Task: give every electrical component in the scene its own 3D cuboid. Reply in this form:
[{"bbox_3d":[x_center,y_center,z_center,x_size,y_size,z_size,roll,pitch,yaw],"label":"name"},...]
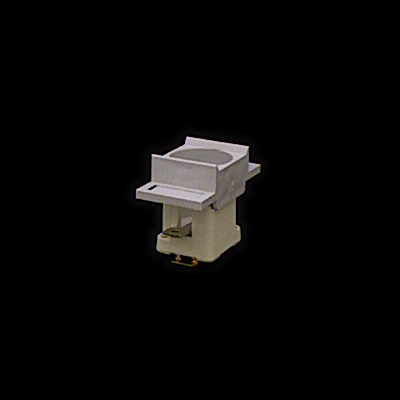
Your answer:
[{"bbox_3d":[0.000,0.000,0.635,0.042,0.064,0.080,12,23,24],"label":"electrical component"}]
